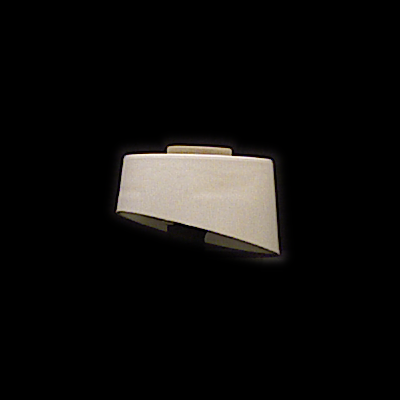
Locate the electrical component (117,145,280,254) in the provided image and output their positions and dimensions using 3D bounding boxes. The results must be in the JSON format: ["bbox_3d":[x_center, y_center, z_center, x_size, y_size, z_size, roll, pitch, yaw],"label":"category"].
[{"bbox_3d":[0.000,0.000,0.648,0.099,0.064,0.099,2,0,0],"label":"electrical component"}]
